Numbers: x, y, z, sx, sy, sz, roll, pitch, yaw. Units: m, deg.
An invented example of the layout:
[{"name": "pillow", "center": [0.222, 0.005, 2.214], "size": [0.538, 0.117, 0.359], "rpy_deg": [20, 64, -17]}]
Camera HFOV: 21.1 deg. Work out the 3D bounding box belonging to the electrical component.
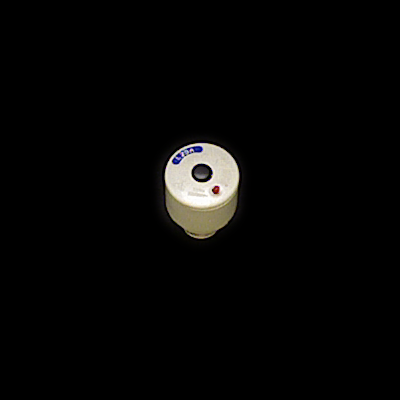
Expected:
[{"name": "electrical component", "center": [0.000, 0.000, 0.616], "size": [0.040, 0.040, 0.078], "rpy_deg": [0, -27, 0]}]
